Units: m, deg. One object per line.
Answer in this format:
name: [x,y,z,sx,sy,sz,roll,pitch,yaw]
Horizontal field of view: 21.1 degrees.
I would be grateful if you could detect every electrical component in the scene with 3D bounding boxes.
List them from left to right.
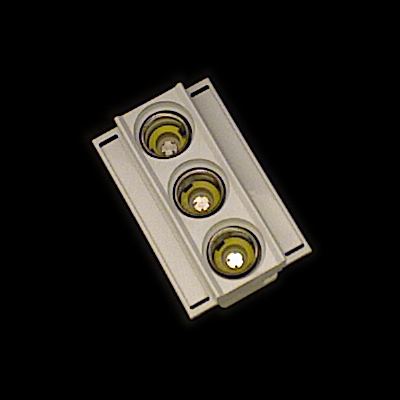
electrical component: [0.000,0.000,0.636,0.079,0.121,0.063,-28,-14,-6]
